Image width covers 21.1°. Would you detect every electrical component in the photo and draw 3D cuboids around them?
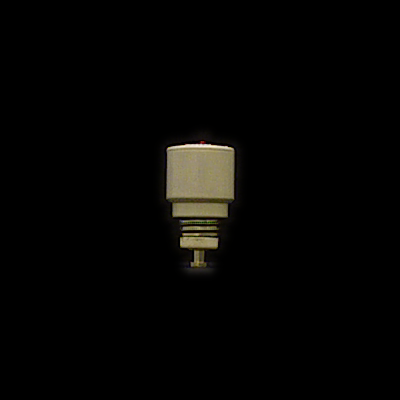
[{"bbox_3d":[0.000,0.000,0.652,0.040,0.078,0.040,1,0,0],"label":"electrical component"}]
